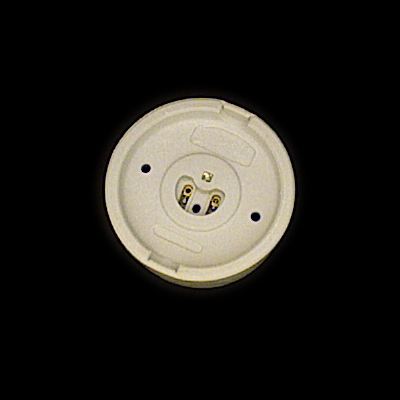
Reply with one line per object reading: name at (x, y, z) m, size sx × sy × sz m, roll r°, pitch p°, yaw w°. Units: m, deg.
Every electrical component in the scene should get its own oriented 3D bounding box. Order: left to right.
electrical component at (0.000, 0.000, 0.635) m, size 0.108 × 0.108 × 0.060 m, roll 0°, pitch -16°, yaw 0°
